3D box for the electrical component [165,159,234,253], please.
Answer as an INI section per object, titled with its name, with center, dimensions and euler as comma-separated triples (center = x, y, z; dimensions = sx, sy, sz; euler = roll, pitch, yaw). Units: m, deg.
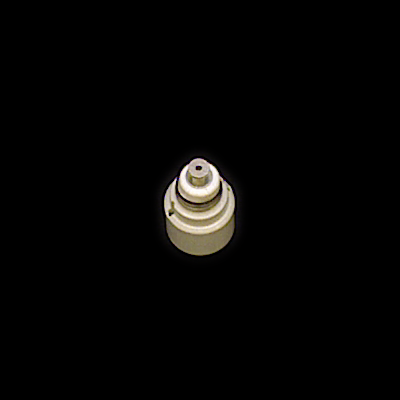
[electrical component]
center = 0.000, 0.000, 0.619
dimensions = 0.040, 0.040, 0.078
euler = 0, -26, 1
